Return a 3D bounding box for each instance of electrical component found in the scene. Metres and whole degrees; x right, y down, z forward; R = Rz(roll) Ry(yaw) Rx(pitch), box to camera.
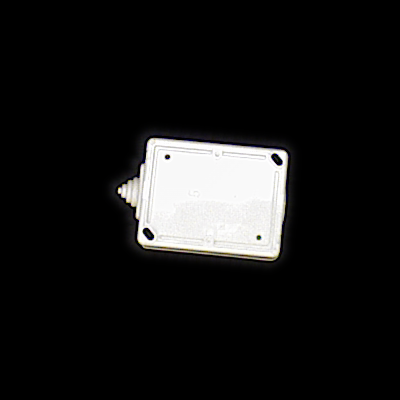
[{"bbox_3d":[0.000,0.000,0.627,0.096,0.062,0.061,5,-6,1],"label":"electrical component"}]
